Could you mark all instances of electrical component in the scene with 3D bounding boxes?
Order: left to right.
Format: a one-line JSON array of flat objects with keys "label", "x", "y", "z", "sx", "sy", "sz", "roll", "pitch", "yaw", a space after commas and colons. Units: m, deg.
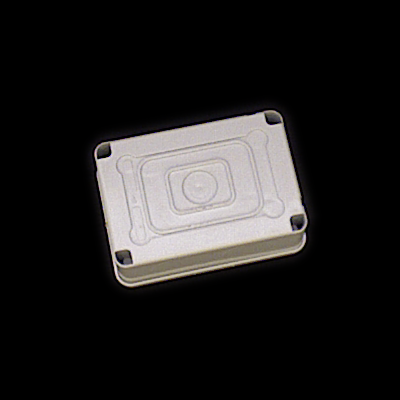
[{"label": "electrical component", "x": 0.000, "y": 0.000, "z": 0.628, "sx": 0.113, "sy": 0.078, "sz": 0.057, "roll": -11, "pitch": -16, "yaw": -3}]
